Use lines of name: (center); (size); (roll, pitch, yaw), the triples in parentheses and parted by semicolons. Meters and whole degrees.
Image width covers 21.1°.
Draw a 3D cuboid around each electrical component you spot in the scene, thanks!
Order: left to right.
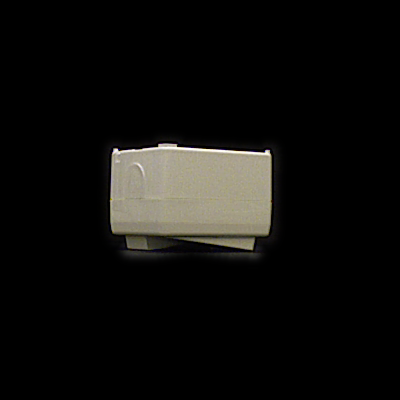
electrical component: (0.000, 0.000, 0.656); (0.096, 0.061, 0.062); (1, 0, -35)
